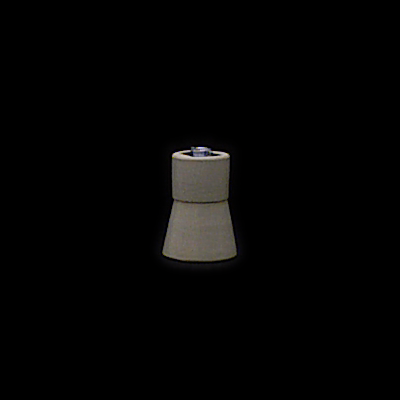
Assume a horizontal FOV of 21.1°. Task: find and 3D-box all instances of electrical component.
[{"bbox_3d":[0.000,0.000,0.643,0.044,0.066,0.044,1,12,0],"label":"electrical component"}]
